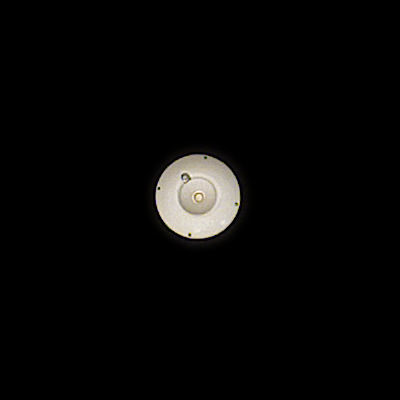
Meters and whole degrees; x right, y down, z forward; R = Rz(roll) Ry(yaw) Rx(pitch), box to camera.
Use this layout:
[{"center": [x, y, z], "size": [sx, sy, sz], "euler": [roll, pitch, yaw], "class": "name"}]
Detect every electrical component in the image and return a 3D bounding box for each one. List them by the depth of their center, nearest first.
[{"center": [0.000, 0.000, 0.634], "size": [0.048, 0.048, 0.061], "euler": [0, -6, 0], "class": "electrical component"}]
